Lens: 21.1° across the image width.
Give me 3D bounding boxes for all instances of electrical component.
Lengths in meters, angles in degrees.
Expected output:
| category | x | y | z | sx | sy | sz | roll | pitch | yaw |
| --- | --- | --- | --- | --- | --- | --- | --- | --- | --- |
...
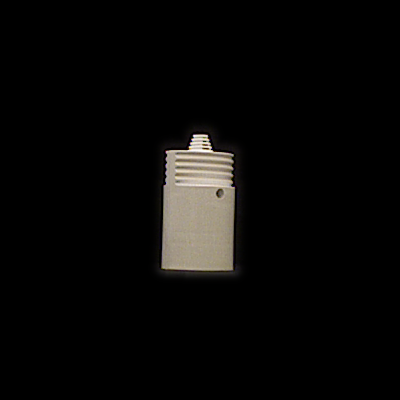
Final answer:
| category | x | y | z | sx | sy | sz | roll | pitch | yaw |
| --- | --- | --- | --- | --- | --- | --- | --- | --- | --- |
| electrical component | 0.000 | 0.000 | 0.649 | 0.043 | 0.081 | 0.043 | 1 | 1 | 0 |
